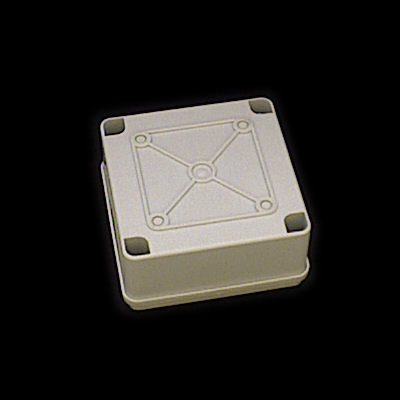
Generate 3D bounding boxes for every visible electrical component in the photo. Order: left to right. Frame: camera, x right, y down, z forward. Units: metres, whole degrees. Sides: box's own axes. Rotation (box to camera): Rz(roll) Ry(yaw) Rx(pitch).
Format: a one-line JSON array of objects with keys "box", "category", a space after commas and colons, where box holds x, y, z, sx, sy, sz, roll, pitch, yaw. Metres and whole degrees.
[{"box": [0.000, 0.000, 0.631, 0.109, 0.108, 0.056, -8, -37, -7], "category": "electrical component"}]
